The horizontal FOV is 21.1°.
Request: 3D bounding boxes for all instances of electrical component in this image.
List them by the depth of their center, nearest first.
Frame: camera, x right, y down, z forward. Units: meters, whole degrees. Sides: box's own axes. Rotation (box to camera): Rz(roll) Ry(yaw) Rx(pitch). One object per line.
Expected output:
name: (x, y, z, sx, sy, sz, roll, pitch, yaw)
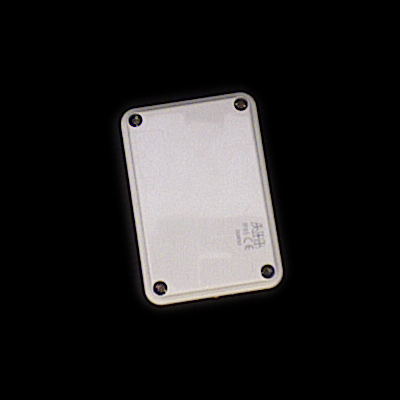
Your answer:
electrical component: (0.000, 0.000, 0.628, 0.078, 0.113, 0.057, -9, -7, -1)
